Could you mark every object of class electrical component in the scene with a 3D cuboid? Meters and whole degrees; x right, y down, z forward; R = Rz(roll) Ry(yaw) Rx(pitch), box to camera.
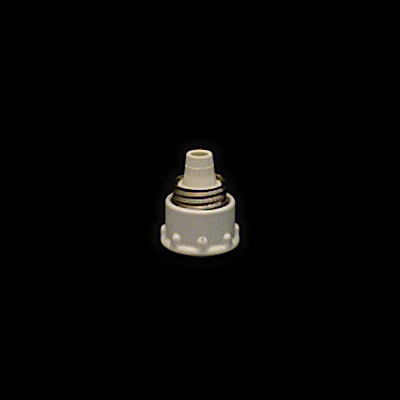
[{"bbox_3d":[0.000,0.000,0.645,0.048,0.063,0.047,0,21,0],"label":"electrical component"}]
